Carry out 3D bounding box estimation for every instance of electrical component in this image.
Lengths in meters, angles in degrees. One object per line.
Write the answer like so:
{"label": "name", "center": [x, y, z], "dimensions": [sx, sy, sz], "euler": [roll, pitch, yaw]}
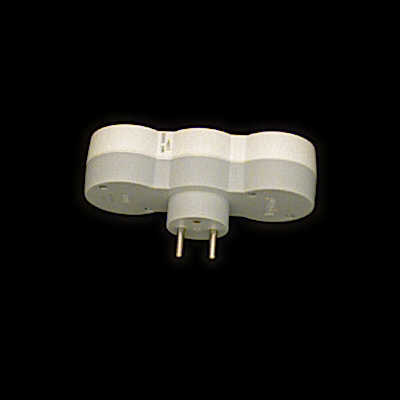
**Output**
{"label": "electrical component", "center": [0.000, 0.000, 0.636], "dimensions": [0.138, 0.074, 0.052], "euler": [3, -25, 1]}
